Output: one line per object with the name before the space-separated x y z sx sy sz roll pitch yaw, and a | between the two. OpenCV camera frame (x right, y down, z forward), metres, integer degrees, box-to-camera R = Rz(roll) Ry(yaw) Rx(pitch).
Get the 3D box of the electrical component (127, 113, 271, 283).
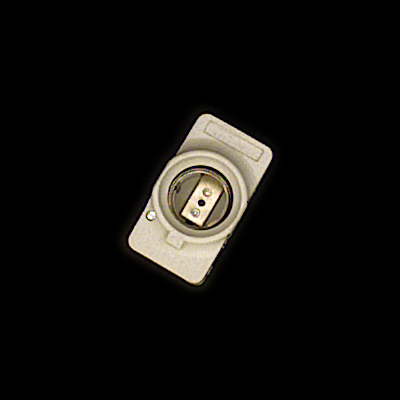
electrical component | 0.000 0.000 0.637 0.050 0.090 0.055 29 -5 4
